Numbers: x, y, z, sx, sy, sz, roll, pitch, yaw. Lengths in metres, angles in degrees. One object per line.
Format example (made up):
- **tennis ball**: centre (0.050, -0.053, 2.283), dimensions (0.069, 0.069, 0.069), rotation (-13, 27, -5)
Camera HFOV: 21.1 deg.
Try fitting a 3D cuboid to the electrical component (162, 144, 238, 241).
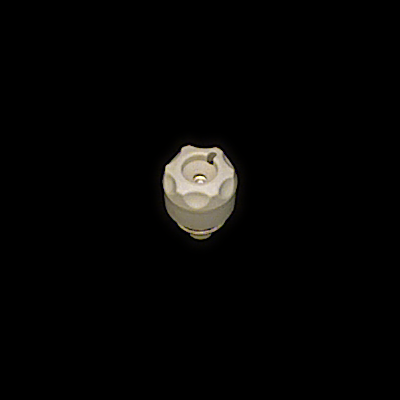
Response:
- **electrical component**: centre (0.000, 0.000, 0.635), dimensions (0.043, 0.043, 0.062), rotation (0, -36, 0)
